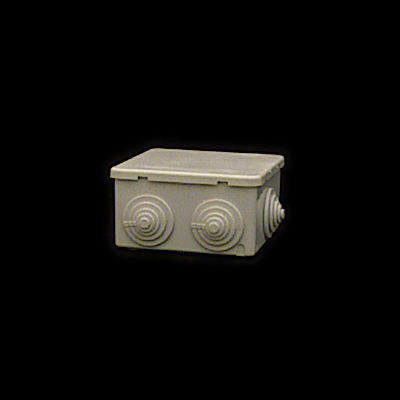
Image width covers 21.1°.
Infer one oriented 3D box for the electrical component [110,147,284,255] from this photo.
[{"bbox_3d":[0.000,0.000,0.651,0.099,0.049,0.099,4,12,13],"label":"electrical component"}]
